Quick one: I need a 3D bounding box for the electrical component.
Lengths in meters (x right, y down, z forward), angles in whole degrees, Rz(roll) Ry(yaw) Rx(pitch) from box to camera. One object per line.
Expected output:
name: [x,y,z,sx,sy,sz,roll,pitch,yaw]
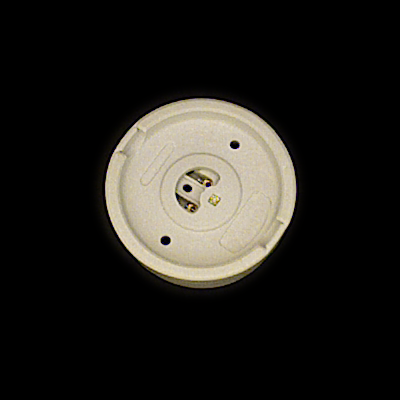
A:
electrical component: [0.000,0.000,0.634,0.108,0.108,0.060,0,-16,1]
